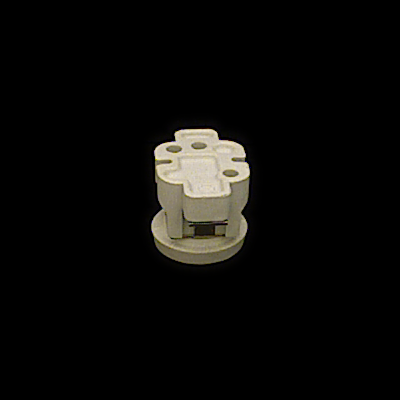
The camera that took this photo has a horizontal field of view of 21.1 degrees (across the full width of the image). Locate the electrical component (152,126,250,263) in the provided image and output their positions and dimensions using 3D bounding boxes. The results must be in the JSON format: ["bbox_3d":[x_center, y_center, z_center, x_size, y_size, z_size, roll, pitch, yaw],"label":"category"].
[{"bbox_3d":[0.000,0.000,0.641,0.058,0.057,0.077,-3,34,-7],"label":"electrical component"}]
